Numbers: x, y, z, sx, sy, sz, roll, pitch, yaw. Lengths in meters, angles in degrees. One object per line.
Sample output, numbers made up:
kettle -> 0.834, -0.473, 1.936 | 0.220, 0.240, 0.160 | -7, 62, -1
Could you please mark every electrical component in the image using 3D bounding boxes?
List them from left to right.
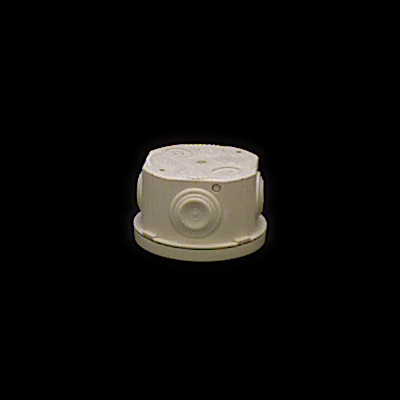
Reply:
electrical component -> 0.000, 0.000, 0.642 | 0.080, 0.051, 0.079 | 1, 20, 0
